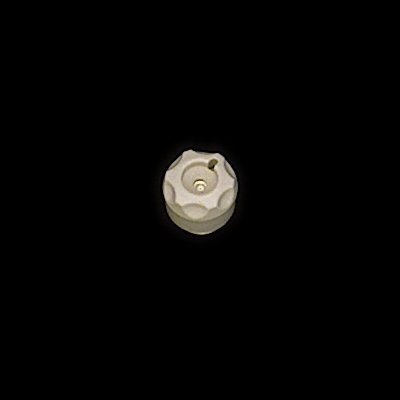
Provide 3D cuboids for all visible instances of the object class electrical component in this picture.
[{"bbox_3d":[0.000,0.000,0.633,0.043,0.043,0.062,0,-26,1],"label":"electrical component"}]
